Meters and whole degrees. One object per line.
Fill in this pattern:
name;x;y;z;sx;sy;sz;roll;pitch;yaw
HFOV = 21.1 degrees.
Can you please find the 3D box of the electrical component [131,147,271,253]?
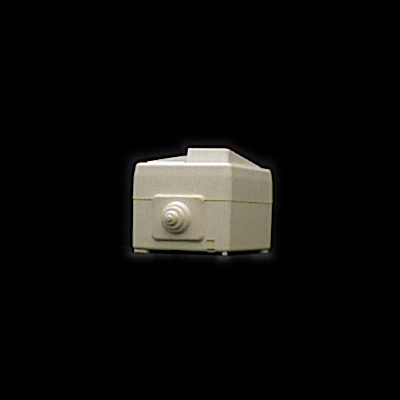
electrical component;0.000;0.000;0.647;0.061;0.061;0.096;1;0;22
